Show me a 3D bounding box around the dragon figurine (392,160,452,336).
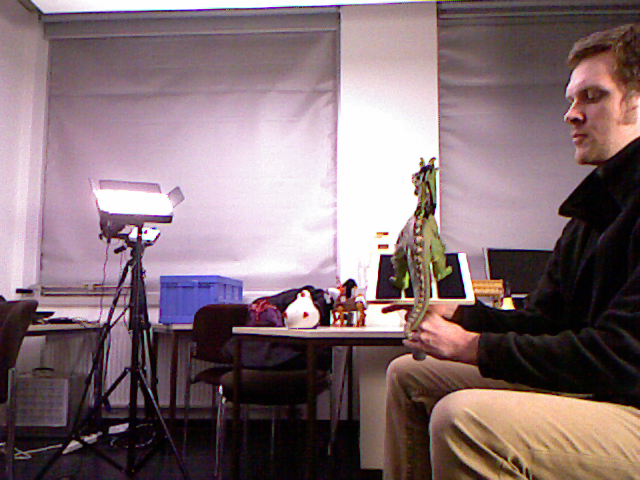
[{"bbox_3d":[0.197,-0.033,1.002,0.122,0.238,0.420,-1,29,10],"label":"dragon figurine"}]
